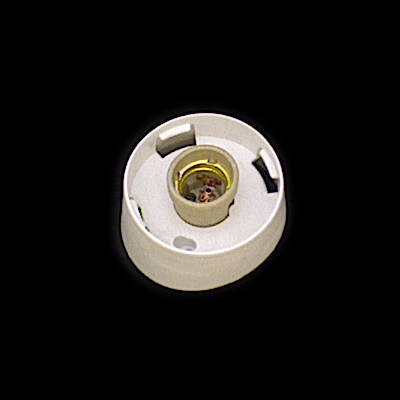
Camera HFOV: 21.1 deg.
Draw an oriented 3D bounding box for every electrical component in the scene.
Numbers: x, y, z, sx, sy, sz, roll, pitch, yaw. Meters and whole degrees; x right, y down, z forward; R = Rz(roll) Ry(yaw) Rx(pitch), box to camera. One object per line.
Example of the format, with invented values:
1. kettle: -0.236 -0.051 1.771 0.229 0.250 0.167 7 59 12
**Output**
1. electrical component: 0.000 0.000 0.625 0.099 0.099 0.064 0 -27 0
